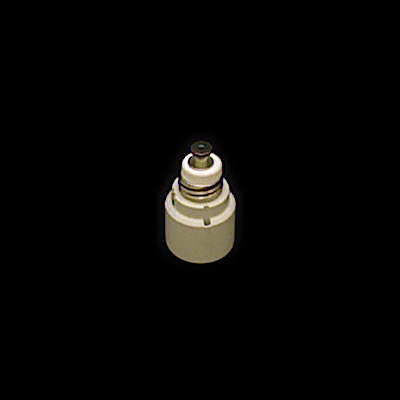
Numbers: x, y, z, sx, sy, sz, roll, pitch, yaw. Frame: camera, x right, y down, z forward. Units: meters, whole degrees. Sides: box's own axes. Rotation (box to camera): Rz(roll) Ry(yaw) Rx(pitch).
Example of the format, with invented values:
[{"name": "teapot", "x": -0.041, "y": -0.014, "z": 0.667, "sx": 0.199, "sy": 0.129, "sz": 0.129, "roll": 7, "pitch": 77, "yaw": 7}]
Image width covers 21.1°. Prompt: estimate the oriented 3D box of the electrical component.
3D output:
[{"name": "electrical component", "x": 0.000, "y": 0.000, "z": 0.626, "sx": 0.040, "sy": 0.079, "sz": 0.039, "roll": 1, "pitch": 43, "yaw": -1}]
